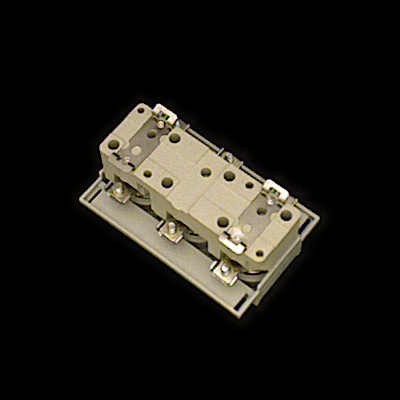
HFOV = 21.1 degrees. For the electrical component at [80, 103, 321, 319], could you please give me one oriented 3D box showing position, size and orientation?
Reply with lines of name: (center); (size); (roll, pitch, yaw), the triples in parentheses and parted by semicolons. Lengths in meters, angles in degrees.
electrical component: (0.000, 0.000, 0.632); (0.121, 0.079, 0.063); (35, -21, 16)
